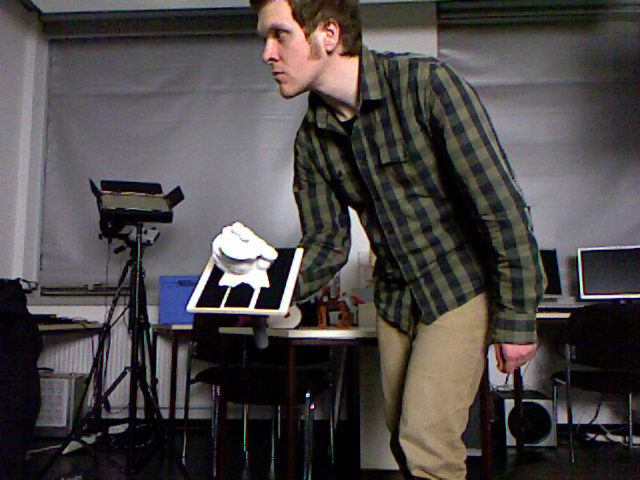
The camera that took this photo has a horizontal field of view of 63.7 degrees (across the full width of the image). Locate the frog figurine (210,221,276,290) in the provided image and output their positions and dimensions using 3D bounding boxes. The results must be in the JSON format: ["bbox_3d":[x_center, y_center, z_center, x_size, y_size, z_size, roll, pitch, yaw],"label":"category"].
[{"bbox_3d":[-0.161,0.015,1.040,0.138,0.156,0.125,14,41,23],"label":"frog figurine"}]
